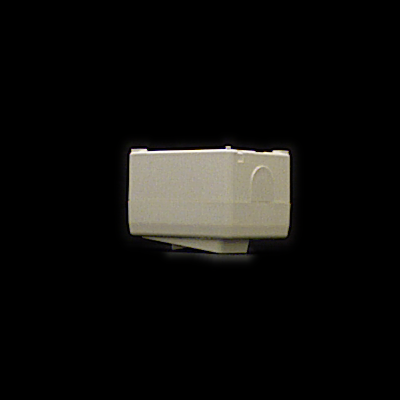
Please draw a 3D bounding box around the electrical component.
[{"bbox_3d":[0.000,0.000,0.653,0.095,0.061,0.062,2,1,40],"label":"electrical component"}]
